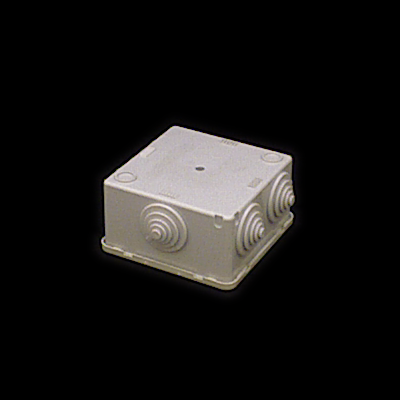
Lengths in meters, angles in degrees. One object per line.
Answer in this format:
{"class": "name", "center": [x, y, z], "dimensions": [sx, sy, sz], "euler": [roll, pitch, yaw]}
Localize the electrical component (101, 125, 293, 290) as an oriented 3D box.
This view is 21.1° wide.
{"class": "electrical component", "center": [0.000, 0.000, 0.636], "dimensions": [0.099, 0.049, 0.099], "euler": [16, 35, 23]}
